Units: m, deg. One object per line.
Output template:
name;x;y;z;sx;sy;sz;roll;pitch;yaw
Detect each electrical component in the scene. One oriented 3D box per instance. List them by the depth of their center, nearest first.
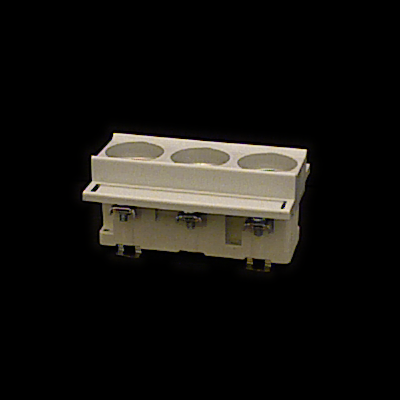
electrical component;0.000;0.000;0.650;0.121;0.064;0.077;6;24;12
